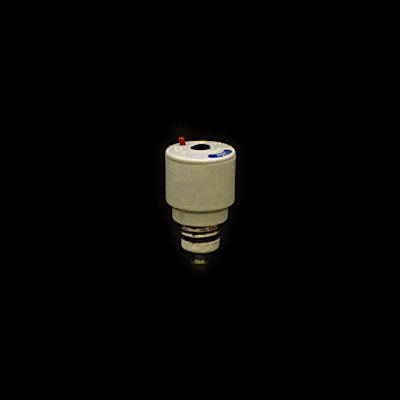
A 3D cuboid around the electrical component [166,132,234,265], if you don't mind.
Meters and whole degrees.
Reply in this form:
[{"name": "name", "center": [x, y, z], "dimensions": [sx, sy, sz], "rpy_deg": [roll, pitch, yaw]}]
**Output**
[{"name": "electrical component", "center": [0.000, 0.000, 0.637], "dimensions": [0.040, 0.079, 0.039], "rpy_deg": [0, 21, 0]}]
